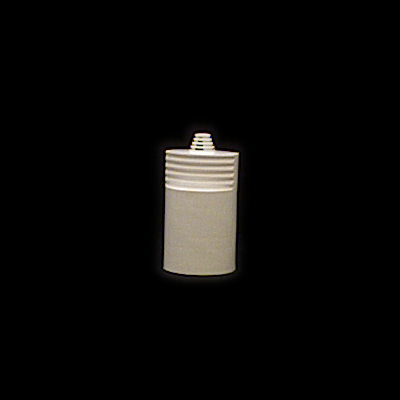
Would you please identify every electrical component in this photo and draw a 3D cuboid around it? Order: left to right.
[{"bbox_3d":[0.000,0.000,0.642,0.043,0.081,0.043,1,11,0],"label":"electrical component"}]
